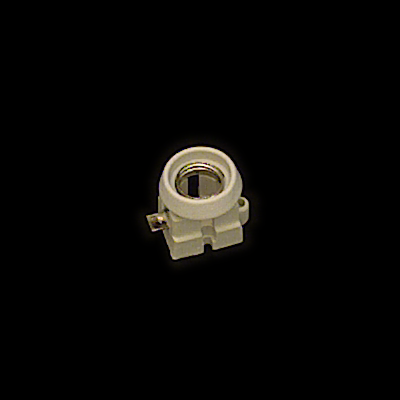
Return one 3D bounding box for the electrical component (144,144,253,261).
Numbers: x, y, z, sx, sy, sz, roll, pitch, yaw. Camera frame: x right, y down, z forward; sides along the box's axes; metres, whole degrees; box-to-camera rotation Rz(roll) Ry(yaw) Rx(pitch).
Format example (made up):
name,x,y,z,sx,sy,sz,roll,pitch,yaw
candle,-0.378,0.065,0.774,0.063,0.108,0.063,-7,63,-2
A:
name,x,y,z,sx,sy,sz,roll,pitch,yaw
electrical component,0.000,0.000,0.637,0.067,0.048,0.055,-15,-37,-12
